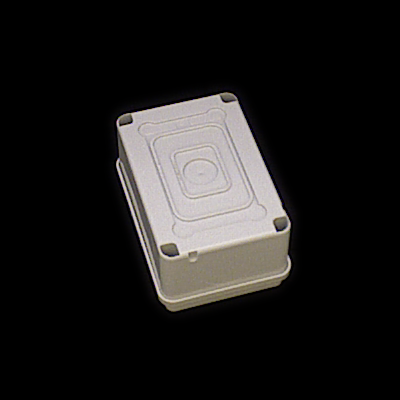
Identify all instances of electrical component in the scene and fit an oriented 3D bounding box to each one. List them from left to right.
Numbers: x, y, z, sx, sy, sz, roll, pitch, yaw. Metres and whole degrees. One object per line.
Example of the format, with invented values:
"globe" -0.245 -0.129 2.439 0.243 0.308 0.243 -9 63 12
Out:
"electrical component" 0.000 0.000 0.629 0.078 0.112 0.057 -13 -37 -10
